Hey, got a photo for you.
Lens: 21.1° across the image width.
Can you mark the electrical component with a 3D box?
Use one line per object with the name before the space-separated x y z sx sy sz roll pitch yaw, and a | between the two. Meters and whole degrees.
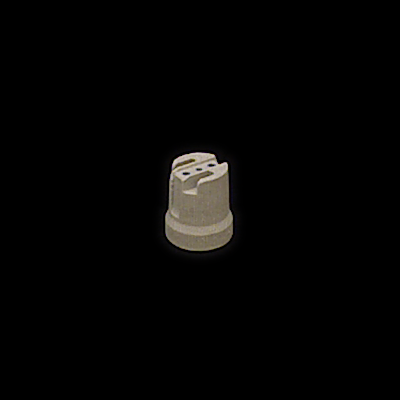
electrical component | 0.000 0.000 0.638 0.040 0.046 0.040 1 31 0
